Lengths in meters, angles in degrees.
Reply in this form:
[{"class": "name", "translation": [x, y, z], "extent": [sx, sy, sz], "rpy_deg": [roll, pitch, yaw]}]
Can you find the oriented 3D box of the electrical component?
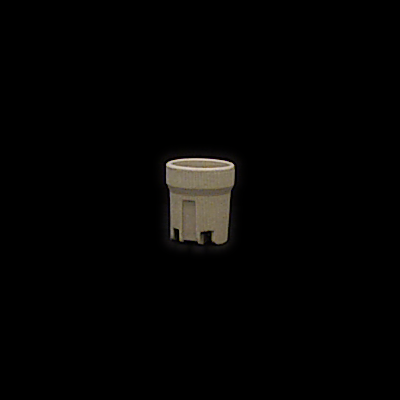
[{"class": "electrical component", "translation": [0.000, 0.000, 0.642], "extent": [0.040, 0.046, 0.040], "rpy_deg": [1, 11, 0]}]
